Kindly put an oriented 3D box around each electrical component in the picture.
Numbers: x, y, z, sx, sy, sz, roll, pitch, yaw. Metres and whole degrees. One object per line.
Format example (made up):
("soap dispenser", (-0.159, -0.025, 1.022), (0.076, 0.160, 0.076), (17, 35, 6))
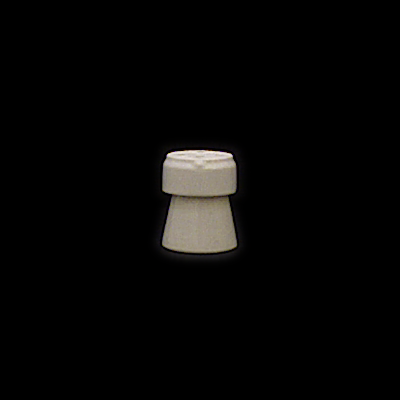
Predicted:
("electrical component", (0.000, 0.000, 0.644), (0.045, 0.055, 0.044), (1, 11, 0))
